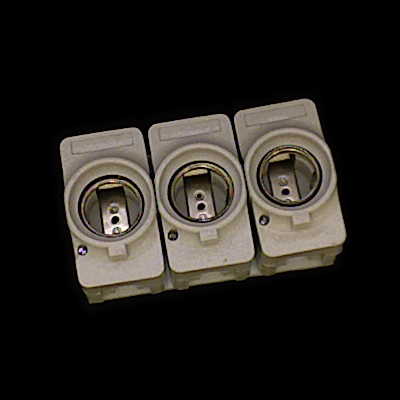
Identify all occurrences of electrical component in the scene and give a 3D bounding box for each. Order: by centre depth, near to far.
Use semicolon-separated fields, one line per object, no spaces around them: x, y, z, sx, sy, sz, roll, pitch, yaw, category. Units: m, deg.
0.000;0.000;0.631;0.150;0.089;0.062;-10;-16;-2;electrical component
